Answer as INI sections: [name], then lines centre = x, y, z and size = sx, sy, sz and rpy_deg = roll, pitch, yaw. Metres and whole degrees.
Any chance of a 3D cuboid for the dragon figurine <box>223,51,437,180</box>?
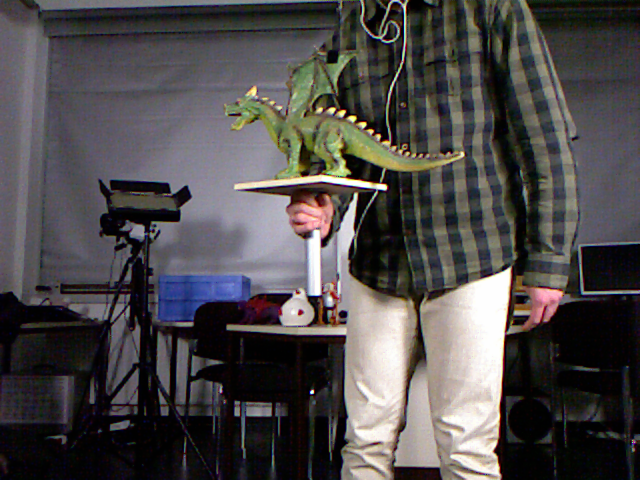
[dragon figurine]
centre = 0.006, -0.231, 0.957
size = 0.411, 0.243, 0.123
rpy_deg = -1, 2, 21
